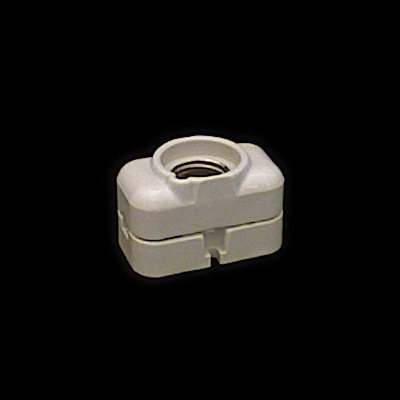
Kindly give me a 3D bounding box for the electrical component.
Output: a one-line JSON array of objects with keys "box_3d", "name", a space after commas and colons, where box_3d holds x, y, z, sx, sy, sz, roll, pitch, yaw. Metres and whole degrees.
[{"box_3d": [0.000, 0.000, 0.640, 0.095, 0.060, 0.053, -11, 34, -18], "name": "electrical component"}]
